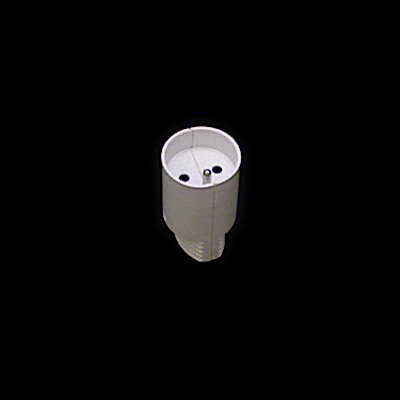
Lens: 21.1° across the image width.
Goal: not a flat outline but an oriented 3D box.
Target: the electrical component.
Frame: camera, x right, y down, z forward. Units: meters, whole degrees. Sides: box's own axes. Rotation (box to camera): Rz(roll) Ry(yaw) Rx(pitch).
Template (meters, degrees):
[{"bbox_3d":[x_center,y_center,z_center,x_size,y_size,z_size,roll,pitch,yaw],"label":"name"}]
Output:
[{"bbox_3d":[0.000,0.000,0.618,0.043,0.043,0.081,0,-37,0],"label":"electrical component"}]
